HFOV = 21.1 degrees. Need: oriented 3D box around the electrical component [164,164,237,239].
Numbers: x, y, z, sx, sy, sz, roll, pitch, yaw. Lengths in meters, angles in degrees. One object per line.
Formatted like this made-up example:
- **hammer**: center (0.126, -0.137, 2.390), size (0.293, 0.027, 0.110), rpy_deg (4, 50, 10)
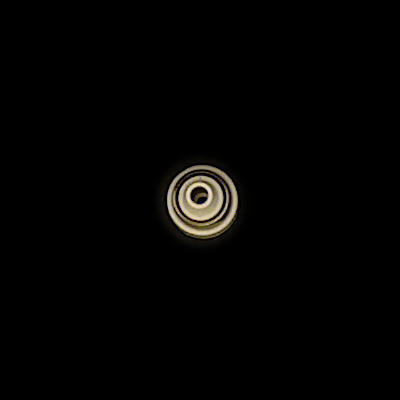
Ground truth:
- **electrical component**: center (0.000, 0.000, 0.635), size (0.043, 0.043, 0.062), rpy_deg (0, -6, 2)
